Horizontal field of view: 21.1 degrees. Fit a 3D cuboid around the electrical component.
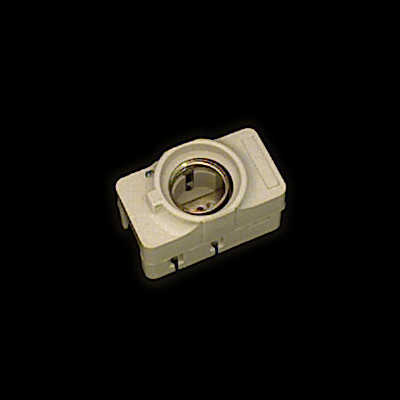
[{"bbox_3d":[0.000,0.000,0.636,0.090,0.050,0.055,-23,-25,-11],"label":"electrical component"}]
